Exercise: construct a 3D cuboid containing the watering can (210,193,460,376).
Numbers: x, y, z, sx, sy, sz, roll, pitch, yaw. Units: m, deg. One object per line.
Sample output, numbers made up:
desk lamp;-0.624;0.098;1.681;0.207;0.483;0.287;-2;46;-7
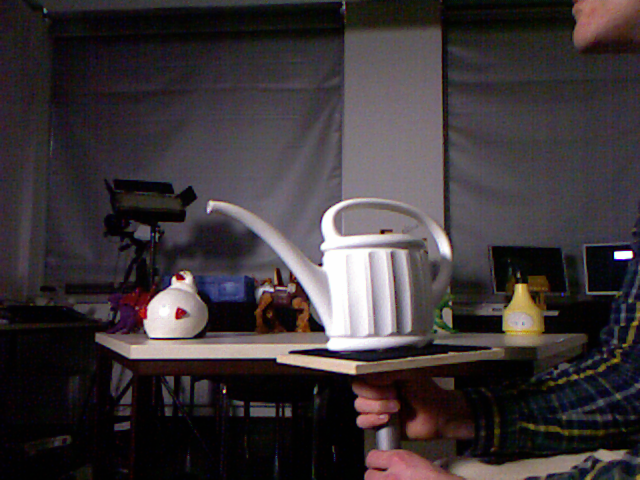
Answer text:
watering can;0.034;0.053;0.635;0.352;0.228;0.105;2;-6;-27
